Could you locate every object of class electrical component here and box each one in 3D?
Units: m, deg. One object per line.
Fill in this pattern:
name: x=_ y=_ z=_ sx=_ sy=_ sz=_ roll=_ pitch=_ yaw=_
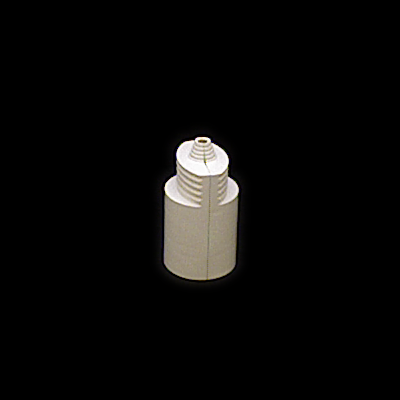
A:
electrical component: x=0.000 y=0.000 z=0.628 sx=0.043 sy=0.082 sz=0.042 roll=1 pitch=31 yaw=0
